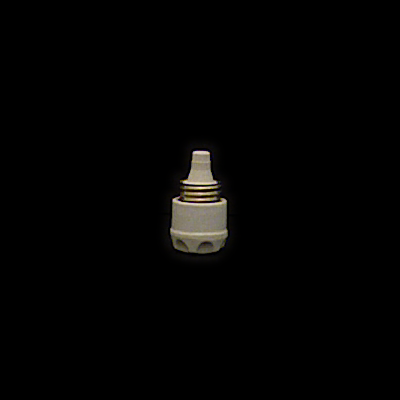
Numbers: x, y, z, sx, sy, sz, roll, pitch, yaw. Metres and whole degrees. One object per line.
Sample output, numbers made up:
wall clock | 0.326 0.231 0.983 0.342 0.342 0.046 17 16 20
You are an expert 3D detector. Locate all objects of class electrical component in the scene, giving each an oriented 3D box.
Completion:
electrical component | 0.000 0.000 0.656 0.035 0.062 0.035 2 11 0
